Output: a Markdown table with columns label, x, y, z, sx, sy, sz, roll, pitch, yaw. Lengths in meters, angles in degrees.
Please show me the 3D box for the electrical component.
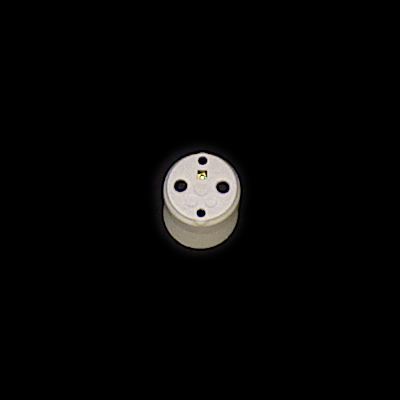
| label | x | y | z | sx | sy | sz | roll | pitch | yaw |
| --- | --- | --- | --- | --- | --- | --- | --- | --- | --- |
| electrical component | 0.000 | 0.000 | 0.629 | 0.045 | 0.045 | 0.055 | 0 | -16 | 0 |
